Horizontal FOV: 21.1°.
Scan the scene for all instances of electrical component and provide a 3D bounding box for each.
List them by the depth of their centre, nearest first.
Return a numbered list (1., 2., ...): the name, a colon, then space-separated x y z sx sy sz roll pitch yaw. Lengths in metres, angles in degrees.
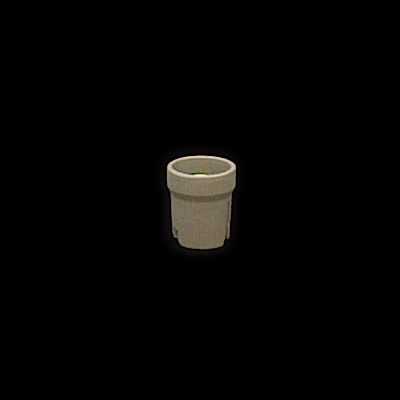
1. electrical component: 0.000 0.000 0.640 0.040 0.047 0.039 1 21 0
